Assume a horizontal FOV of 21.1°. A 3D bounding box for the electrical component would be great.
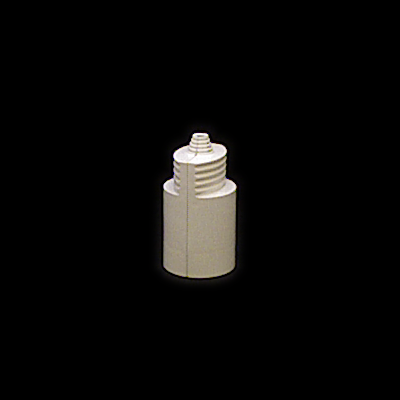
[{"bbox_3d":[0.000,0.000,0.636,0.043,0.082,0.042,1,21,0],"label":"electrical component"}]
